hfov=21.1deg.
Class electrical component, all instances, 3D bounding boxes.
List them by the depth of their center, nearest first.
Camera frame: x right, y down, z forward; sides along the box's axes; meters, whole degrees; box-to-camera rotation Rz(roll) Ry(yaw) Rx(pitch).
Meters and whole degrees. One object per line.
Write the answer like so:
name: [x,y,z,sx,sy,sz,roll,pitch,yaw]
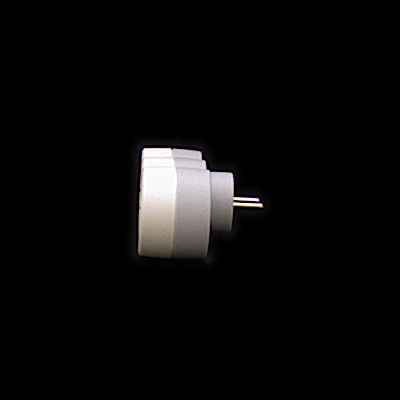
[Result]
electrical component: [0.000,0.000,0.648,0.074,0.052,0.137,2,9,-4]
